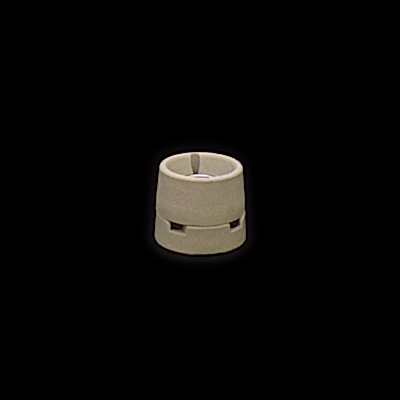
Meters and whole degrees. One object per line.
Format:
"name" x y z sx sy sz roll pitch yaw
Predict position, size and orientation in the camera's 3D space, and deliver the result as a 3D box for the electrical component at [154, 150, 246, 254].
"electrical component" 0.000 0.000 0.640 0.055 0.047 0.055 1 22 0
